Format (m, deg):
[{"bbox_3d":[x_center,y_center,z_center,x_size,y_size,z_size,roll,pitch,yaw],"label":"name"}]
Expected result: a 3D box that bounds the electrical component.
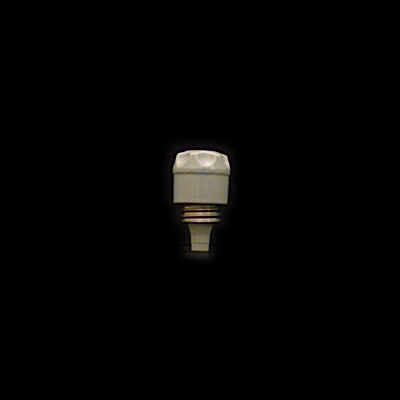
[{"bbox_3d":[0.000,0.000,0.659,0.035,0.061,0.035,1,1,1],"label":"electrical component"}]
